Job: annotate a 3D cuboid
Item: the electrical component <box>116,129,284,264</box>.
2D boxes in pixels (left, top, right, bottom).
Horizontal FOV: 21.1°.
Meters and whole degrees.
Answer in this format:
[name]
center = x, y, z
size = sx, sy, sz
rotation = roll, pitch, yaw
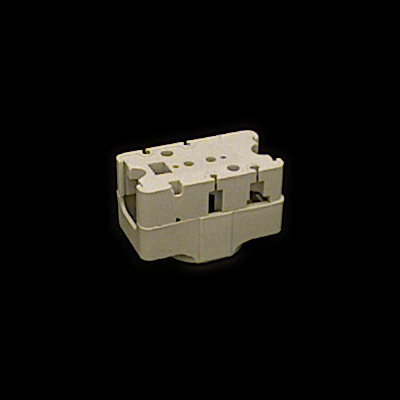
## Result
[electrical component]
center = 0.000, 0.000, 0.642
size = 0.090, 0.056, 0.049
rotation = -12, 35, -20
